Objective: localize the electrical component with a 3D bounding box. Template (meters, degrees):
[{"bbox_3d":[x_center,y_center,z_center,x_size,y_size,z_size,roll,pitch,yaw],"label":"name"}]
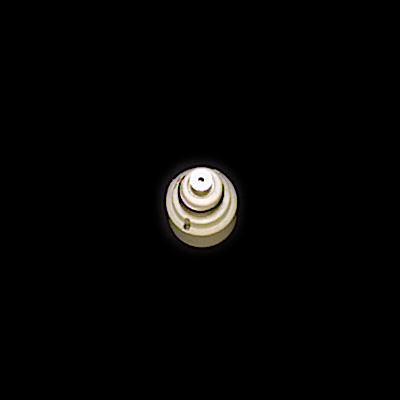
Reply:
[{"bbox_3d":[0.000,0.000,0.618,0.040,0.040,0.078,0,-16,0],"label":"electrical component"}]
